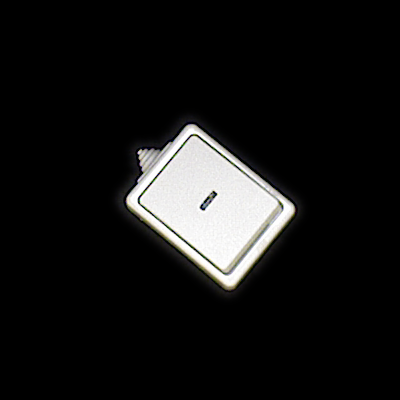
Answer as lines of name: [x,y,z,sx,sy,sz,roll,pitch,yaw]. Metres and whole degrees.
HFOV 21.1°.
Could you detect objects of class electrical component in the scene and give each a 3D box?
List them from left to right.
electrical component: [0.000,0.000,0.627,0.096,0.062,0.061,39,-5,5]
